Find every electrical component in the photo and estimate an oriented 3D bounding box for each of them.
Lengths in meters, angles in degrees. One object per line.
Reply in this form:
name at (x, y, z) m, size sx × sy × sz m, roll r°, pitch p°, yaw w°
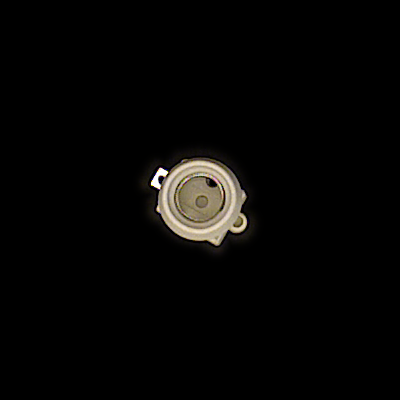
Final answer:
electrical component at (0.000, 0.000, 0.639) m, size 0.066 × 0.048 × 0.055 m, roll 28°, pitch -6°, yaw 3°
